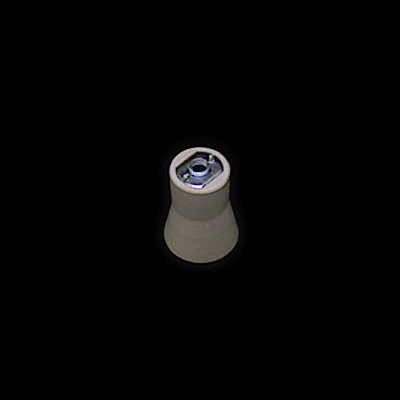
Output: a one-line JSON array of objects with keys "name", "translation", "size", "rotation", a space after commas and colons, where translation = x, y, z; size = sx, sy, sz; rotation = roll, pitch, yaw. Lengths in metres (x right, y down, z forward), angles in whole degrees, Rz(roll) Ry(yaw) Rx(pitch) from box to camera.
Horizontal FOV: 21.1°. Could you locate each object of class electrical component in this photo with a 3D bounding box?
[{"name": "electrical component", "translation": [0.000, 0.000, 0.627], "size": [0.044, 0.044, 0.065], "rotation": [0, -38, 1]}]
